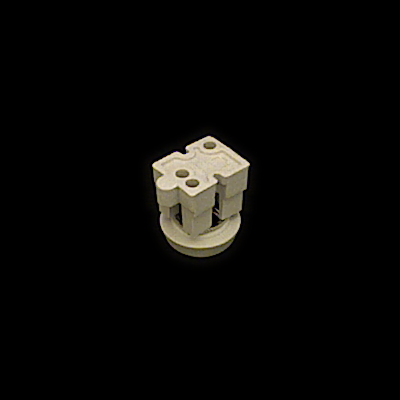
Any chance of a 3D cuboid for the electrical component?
[{"bbox_3d":[0.000,0.000,0.639,0.067,0.056,0.048,-29,49,-30],"label":"electrical component"}]
